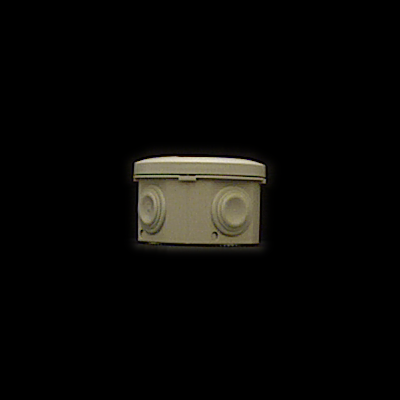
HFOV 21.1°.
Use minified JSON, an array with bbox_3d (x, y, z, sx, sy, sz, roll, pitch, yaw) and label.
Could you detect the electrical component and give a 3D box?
[{"bbox_3d":[0.000,0.000,0.651,0.080,0.051,0.080,1,0,0],"label":"electrical component"}]
